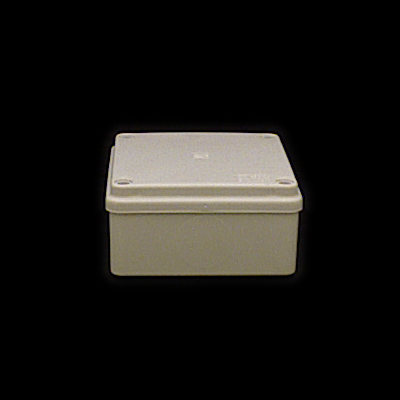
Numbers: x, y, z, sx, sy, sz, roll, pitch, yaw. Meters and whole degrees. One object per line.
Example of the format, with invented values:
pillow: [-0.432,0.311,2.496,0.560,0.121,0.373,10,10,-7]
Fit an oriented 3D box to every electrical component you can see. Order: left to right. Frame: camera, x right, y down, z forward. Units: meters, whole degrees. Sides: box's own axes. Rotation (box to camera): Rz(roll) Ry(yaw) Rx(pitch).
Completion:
electrical component: [0.000,0.000,0.641,0.109,0.057,0.107,0,20,-3]
